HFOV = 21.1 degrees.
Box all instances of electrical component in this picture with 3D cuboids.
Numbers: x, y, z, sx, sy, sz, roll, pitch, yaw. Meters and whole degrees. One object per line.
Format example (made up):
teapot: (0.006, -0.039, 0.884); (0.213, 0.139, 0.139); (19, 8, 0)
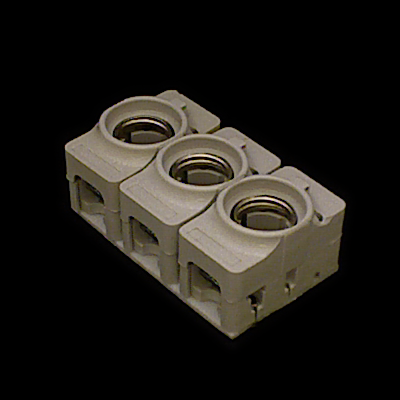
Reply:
electrical component: (0.000, 0.000, 0.638); (0.089, 0.063, 0.148); (-31, 51, -31)
